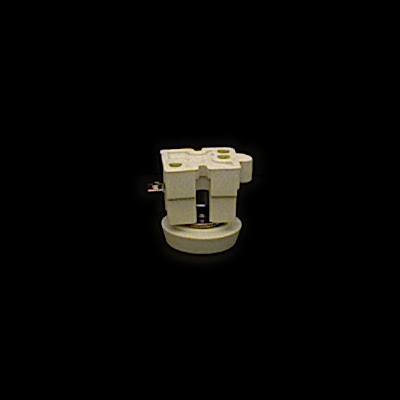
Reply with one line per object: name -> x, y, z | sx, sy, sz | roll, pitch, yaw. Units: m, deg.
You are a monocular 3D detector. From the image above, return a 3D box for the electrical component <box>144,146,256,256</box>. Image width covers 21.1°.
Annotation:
electrical component -> 0.000, 0.000, 0.648 | 0.066, 0.056, 0.048 | -2, 23, -5
